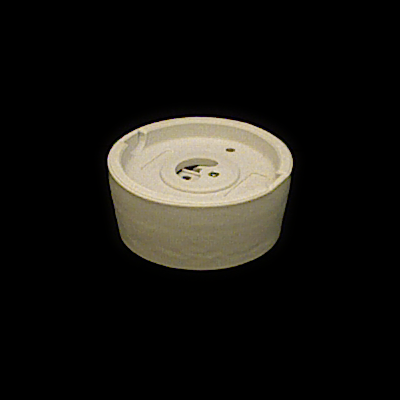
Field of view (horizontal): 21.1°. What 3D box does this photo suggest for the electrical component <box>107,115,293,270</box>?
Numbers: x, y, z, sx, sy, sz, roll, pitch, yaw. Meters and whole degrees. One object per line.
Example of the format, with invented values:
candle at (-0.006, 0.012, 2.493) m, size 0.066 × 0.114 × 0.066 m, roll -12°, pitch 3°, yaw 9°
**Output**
electrical component at (0.000, 0.000, 0.642) m, size 0.108 × 0.061 × 0.106 m, roll 1°, pitch 32°, yaw 0°
